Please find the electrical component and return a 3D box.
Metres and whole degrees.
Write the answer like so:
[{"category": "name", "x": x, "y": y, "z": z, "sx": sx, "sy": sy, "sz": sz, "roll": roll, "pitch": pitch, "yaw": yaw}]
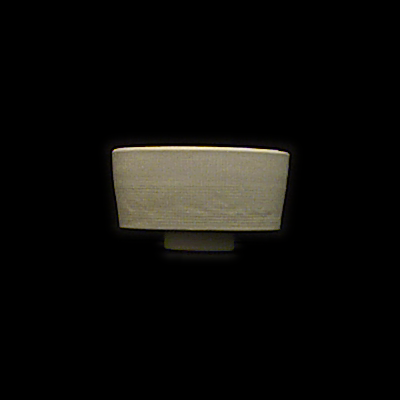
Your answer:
[{"category": "electrical component", "x": 0.000, "y": 0.000, "z": 0.658, "sx": 0.108, "sy": 0.060, "sz": 0.108, "roll": 1, "pitch": 1, "yaw": 0}]
